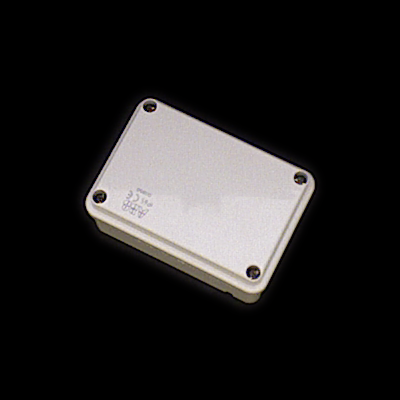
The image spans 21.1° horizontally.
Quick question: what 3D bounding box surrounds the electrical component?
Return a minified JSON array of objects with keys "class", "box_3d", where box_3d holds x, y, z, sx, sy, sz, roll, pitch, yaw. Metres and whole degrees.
[{"class":"electrical component","box_3d":[0.000,0.000,0.626,0.113,0.078,0.057,26,-15,7]}]
